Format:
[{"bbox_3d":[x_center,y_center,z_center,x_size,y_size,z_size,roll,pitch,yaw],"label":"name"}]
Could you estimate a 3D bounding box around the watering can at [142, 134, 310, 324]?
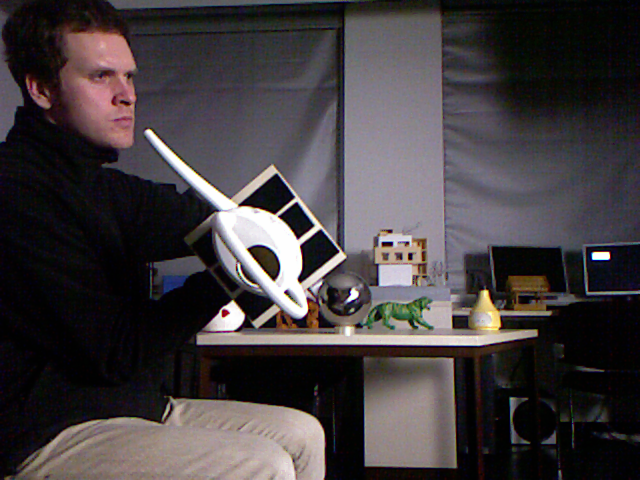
[{"bbox_3d":[-0.125,-0.021,0.802,0.104,0.349,0.226,-38,3,6],"label":"watering can"}]
